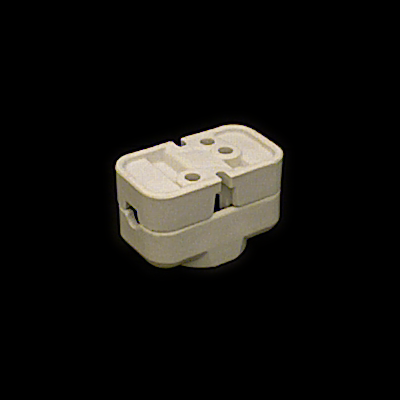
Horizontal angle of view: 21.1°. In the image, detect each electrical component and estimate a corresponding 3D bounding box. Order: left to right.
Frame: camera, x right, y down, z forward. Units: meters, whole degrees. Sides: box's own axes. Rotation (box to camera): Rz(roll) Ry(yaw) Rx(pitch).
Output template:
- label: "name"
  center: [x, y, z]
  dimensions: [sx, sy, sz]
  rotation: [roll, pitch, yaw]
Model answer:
- label: "electrical component"
  center: [0.000, 0.000, 0.642]
  dimensions: [0.096, 0.060, 0.052]
  rotation: [-20, 37, -28]
